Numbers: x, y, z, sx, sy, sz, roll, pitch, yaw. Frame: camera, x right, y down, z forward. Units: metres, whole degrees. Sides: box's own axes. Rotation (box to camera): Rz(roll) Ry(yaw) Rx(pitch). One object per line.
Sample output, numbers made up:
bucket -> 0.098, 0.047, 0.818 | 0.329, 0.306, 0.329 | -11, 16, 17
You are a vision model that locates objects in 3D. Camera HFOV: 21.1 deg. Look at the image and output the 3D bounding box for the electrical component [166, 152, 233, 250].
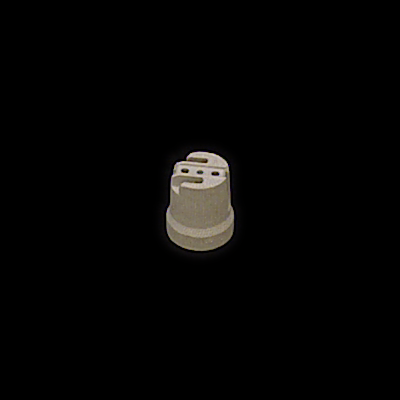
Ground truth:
electrical component -> 0.000, 0.000, 0.636 | 0.040, 0.046, 0.040 | 1, 42, 0
